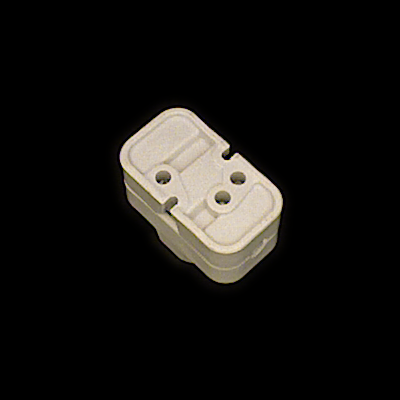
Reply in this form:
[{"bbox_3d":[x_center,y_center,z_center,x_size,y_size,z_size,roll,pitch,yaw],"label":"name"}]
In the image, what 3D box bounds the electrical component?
[{"bbox_3d":[0.000,0.000,0.636,0.054,0.094,0.059,-41,-20,-18],"label":"electrical component"}]
